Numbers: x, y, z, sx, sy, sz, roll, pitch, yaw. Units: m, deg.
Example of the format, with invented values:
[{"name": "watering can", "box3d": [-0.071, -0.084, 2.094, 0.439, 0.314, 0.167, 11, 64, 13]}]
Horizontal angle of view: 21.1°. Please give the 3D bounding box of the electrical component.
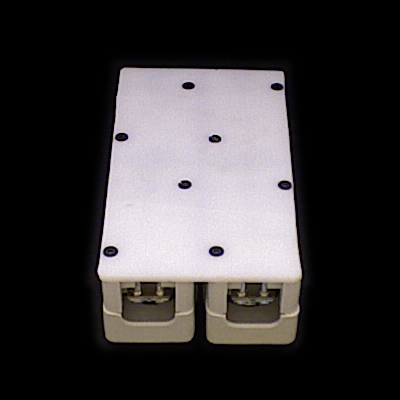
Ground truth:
[{"name": "electrical component", "box3d": [0.000, 0.000, 0.630, 0.105, 0.061, 0.184, 1, 42, 0]}]
